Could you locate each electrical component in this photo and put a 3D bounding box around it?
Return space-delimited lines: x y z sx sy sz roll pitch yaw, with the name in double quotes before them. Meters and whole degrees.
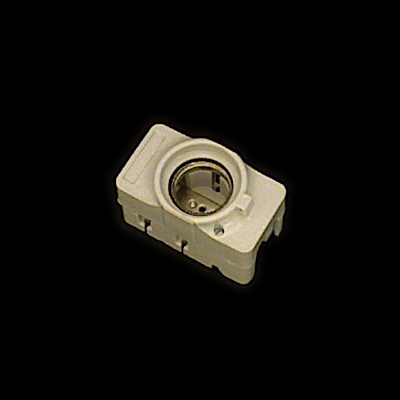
"electrical component" 0.000 0.000 0.635 0.089 0.050 0.055 27 -23 13
